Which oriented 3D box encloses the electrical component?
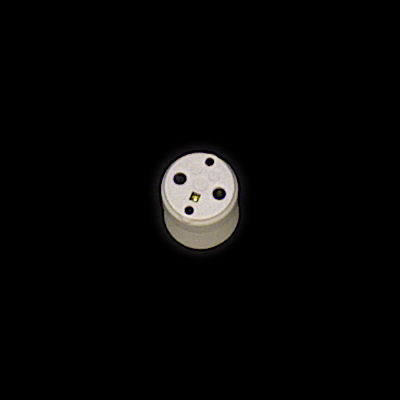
[{"bbox_3d":[0.000,0.000,0.629,0.045,0.045,0.055,0,-17,0],"label":"electrical component"}]
